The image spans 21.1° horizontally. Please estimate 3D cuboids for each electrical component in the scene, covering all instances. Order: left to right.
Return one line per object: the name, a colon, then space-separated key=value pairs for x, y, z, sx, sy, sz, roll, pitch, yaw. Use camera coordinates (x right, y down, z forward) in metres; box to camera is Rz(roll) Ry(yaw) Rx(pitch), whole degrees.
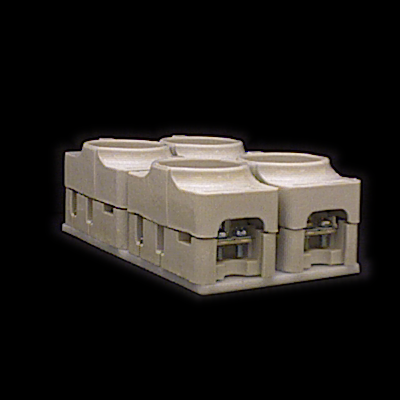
electrical component: x=0.000 y=0.000 z=0.643 sx=0.106 sy=0.060 sz=0.184 roll=-5 pitch=11 yaw=-30
